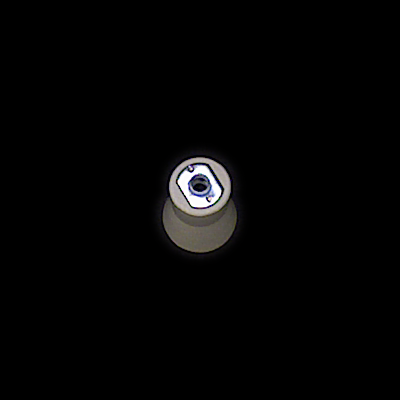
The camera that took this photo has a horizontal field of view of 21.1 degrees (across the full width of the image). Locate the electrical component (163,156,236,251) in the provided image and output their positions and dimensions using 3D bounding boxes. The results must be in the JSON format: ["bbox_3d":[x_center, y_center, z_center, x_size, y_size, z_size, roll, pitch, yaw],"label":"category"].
[{"bbox_3d":[0.000,0.000,0.625,0.044,0.044,0.065,0,-17,-1],"label":"electrical component"}]
